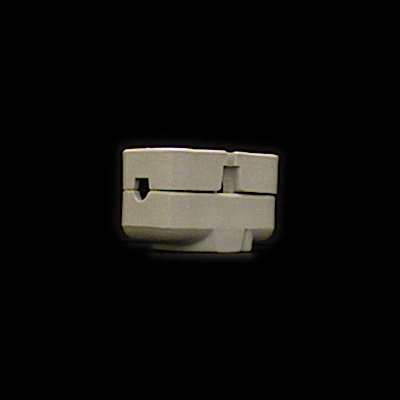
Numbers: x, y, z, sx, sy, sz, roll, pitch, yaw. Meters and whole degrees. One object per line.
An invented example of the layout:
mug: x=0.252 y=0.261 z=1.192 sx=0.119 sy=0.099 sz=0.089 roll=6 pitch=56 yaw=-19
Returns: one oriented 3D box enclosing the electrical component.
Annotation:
electrical component: x=0.000 y=0.000 z=0.656 sx=0.096 sy=0.059 sz=0.053 roll=1 pitch=1 yaw=-43
